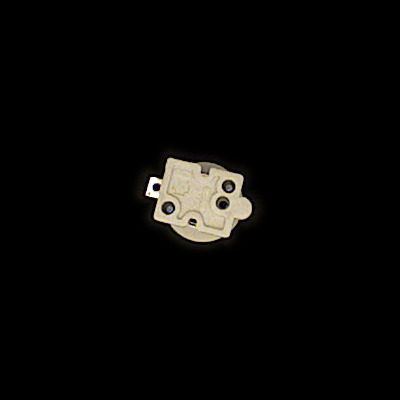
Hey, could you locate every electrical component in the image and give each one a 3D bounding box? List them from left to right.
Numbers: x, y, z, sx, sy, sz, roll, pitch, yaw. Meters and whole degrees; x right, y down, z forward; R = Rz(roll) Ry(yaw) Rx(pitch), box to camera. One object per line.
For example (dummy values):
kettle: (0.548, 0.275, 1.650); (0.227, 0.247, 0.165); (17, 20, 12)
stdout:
electrical component: (0.000, 0.000, 0.639); (0.066, 0.048, 0.055); (14, -4, 3)
